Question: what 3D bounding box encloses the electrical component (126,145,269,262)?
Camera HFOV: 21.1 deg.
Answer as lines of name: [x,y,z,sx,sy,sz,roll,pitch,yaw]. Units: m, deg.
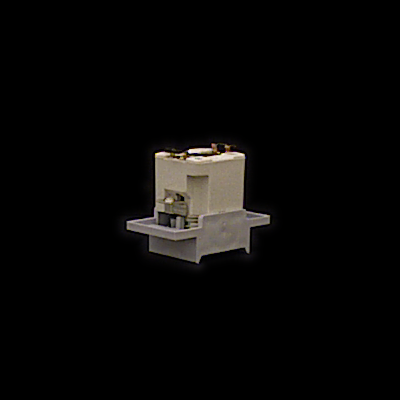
electrical component: [0.000,0.000,0.643,0.042,0.064,0.081,12,15,43]
